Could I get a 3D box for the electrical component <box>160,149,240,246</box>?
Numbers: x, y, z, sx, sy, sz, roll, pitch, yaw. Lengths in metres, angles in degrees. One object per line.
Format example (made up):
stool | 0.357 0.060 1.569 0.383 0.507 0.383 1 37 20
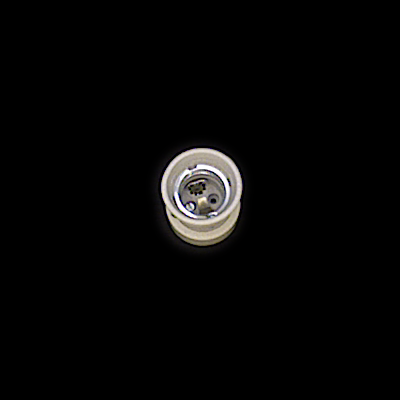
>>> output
electrical component | 0.000 0.000 0.628 0.045 0.045 0.055 0 -17 0
